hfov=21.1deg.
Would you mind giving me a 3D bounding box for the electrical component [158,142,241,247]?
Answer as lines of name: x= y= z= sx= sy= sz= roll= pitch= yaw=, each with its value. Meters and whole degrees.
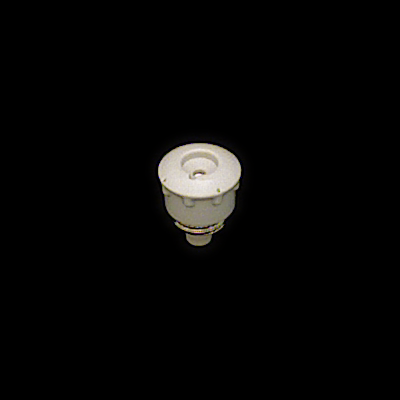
electrical component: x=0.000 y=0.000 z=0.637 sx=0.048 sy=0.062 sz=0.047 roll=0 pitch=43 yaw=0
